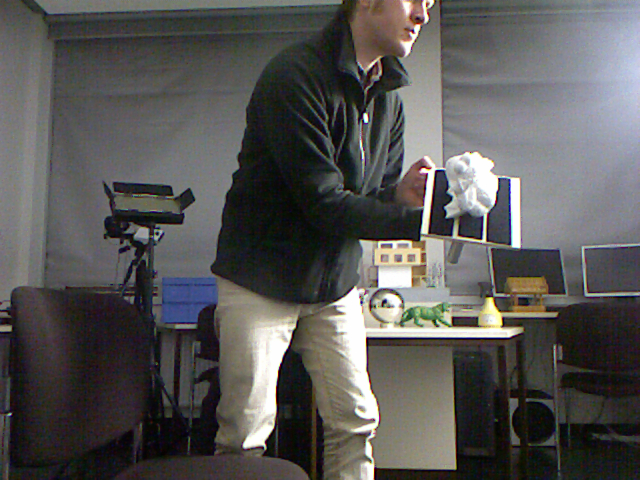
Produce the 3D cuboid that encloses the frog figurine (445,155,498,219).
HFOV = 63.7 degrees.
[{"bbox_3d":[0.322,-0.124,1.087,0.124,0.140,0.156,30,-28,19],"label":"frog figurine"}]
